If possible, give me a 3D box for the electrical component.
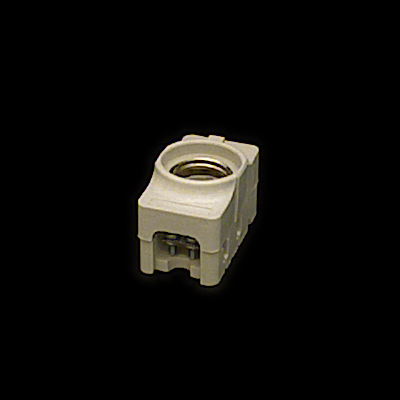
[{"bbox_3d":[0.000,0.000,0.643,0.050,0.056,0.089,10,33,14],"label":"electrical component"}]
